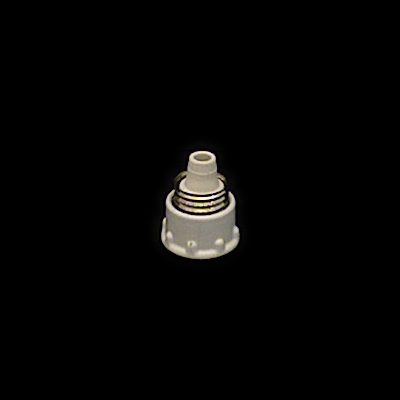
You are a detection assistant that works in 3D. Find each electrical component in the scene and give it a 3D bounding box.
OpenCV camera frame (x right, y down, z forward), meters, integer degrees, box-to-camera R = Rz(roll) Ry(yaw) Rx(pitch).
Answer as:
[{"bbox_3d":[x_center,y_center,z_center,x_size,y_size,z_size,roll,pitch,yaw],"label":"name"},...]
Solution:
[{"bbox_3d":[0.000,0.000,0.643,0.048,0.063,0.047,2,32,0],"label":"electrical component"}]
